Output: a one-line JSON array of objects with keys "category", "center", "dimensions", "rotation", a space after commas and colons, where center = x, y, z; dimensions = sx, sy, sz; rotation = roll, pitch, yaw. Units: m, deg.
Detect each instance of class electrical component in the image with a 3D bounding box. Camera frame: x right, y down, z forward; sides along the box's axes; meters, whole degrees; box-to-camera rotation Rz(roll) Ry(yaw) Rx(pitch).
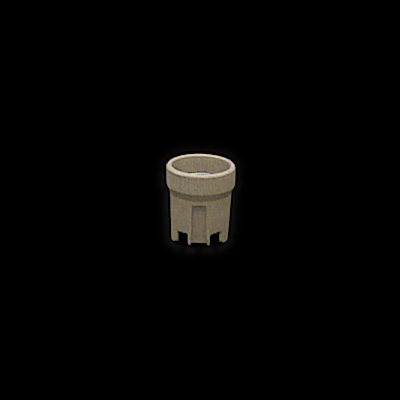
[{"category": "electrical component", "center": [0.000, 0.000, 0.637], "dimensions": [0.040, 0.047, 0.039], "rotation": [1, 21, 0]}]
